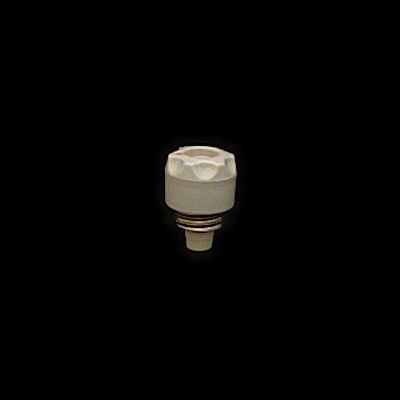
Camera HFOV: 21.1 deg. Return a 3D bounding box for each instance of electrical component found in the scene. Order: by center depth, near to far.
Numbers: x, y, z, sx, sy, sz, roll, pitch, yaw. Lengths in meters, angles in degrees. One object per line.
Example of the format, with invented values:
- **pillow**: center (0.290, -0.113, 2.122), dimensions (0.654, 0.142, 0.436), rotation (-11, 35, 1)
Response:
- **electrical component**: center (0.000, 0.000, 0.646), dimensions (0.043, 0.063, 0.043), rotation (2, 22, 0)
